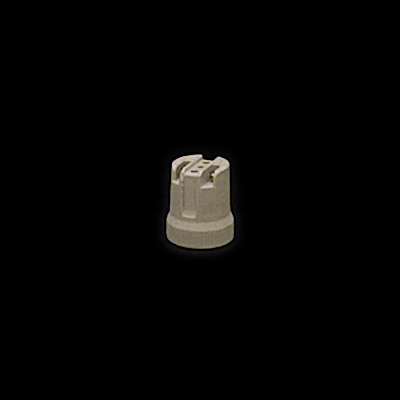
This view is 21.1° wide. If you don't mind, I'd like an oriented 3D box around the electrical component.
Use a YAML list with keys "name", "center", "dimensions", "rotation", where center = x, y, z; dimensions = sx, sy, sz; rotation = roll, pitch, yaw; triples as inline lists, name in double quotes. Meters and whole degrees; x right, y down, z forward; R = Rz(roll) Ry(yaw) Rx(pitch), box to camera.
- name: "electrical component"
  center: [0.000, 0.000, 0.641]
  dimensions: [0.040, 0.046, 0.040]
  rotation: [1, 21, 0]
